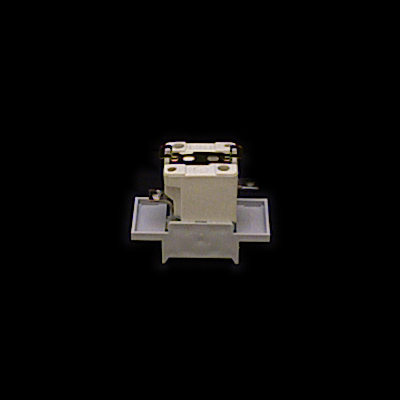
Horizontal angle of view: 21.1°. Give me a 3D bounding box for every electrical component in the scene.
[{"bbox_3d":[0.000,0.000,0.633,0.081,0.064,0.041,1,32,-1],"label":"electrical component"}]
